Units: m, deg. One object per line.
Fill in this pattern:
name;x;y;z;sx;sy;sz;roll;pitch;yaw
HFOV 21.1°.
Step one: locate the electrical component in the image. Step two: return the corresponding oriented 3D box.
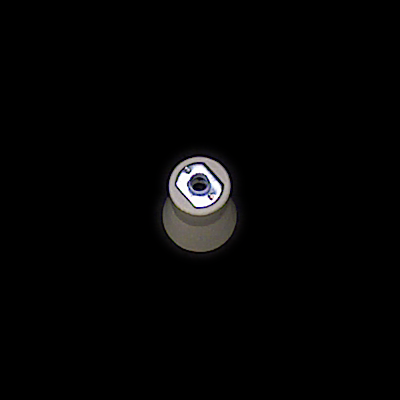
electrical component;0.000;0.000;0.625;0.044;0.044;0.065;0;-18;-1
